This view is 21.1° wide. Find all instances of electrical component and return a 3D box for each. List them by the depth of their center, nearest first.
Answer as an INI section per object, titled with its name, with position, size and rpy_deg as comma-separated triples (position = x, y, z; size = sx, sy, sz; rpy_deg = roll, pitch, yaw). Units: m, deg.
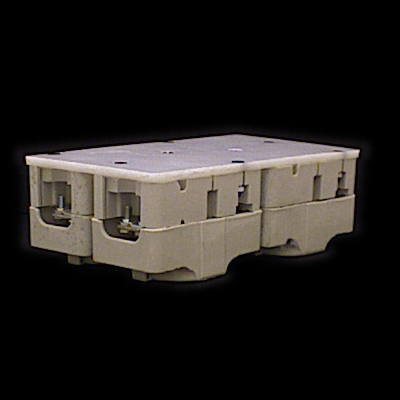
[electrical component]
position = 0.000, 0.000, 0.644
size = 0.105, 0.061, 0.186
rpy_deg = 10, 13, 41
